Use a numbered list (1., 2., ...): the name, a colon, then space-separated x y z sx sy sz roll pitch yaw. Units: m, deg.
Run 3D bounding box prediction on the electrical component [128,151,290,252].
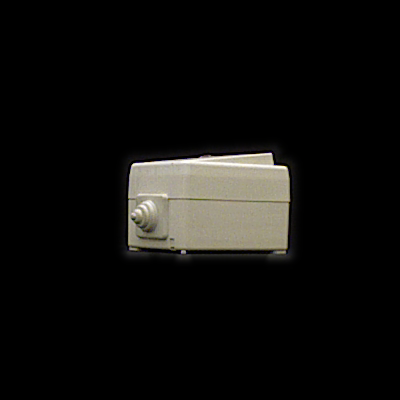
1. electrical component: 0.000 0.000 0.649 0.096 0.061 0.061 1 0 -36
